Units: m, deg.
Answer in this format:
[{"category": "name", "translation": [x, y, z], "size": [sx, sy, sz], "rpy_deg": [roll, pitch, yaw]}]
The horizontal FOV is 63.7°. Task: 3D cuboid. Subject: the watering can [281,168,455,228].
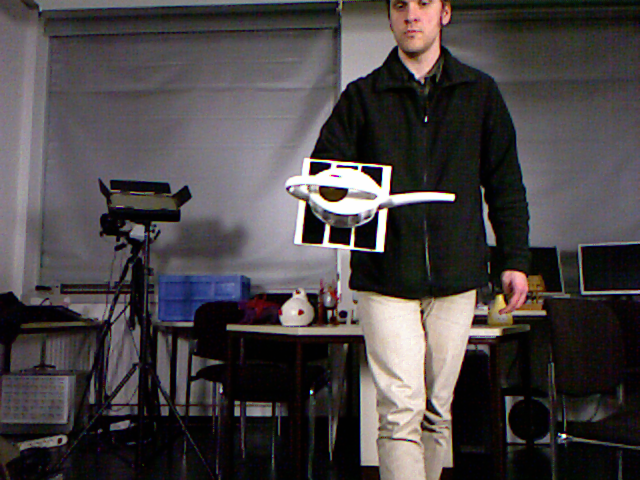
[{"category": "watering can", "translation": [0.093, -0.086, 1.096], "size": [0.348, 0.105, 0.222], "rpy_deg": [7, -10, 3]}]
